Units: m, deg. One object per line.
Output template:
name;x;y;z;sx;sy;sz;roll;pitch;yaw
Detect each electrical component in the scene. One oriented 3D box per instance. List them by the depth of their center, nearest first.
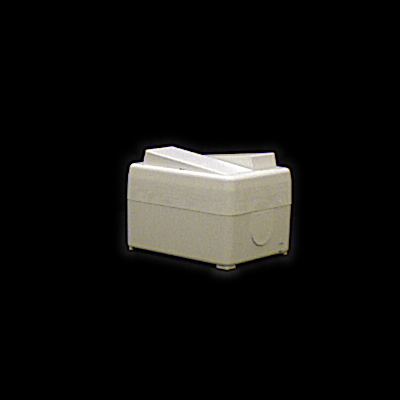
electrical component;0.000;0.000;0.646;0.095;0.061;0.062;10;14;39
